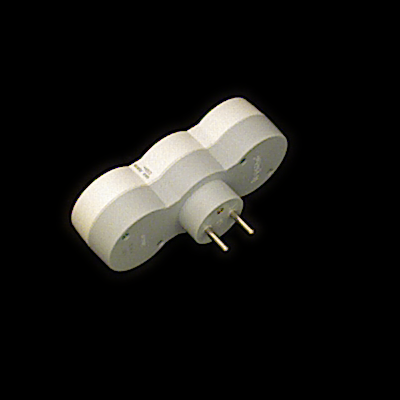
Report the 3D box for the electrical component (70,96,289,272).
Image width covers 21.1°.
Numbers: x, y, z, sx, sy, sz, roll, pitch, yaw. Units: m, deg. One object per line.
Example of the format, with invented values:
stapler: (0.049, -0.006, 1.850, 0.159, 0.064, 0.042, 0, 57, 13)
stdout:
electrical component: (0.000, 0.000, 0.637, 0.139, 0.073, 0.052, -33, -29, -23)
